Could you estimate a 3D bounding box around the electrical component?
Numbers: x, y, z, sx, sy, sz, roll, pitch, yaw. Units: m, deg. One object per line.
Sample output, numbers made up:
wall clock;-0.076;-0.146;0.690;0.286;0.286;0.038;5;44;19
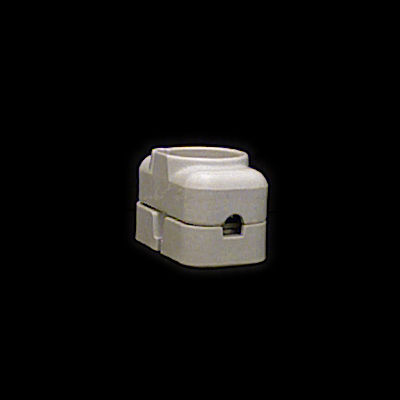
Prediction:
electrical component;0.000;0.000;0.650;0.054;0.060;0.094;-4;12;-25
